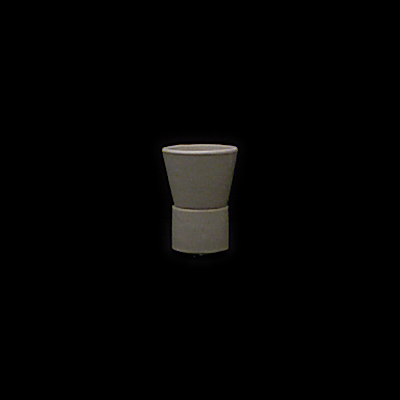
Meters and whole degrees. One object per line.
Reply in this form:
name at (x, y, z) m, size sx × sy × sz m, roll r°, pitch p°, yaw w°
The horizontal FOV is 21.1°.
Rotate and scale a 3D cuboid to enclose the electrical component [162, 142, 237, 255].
electrical component at (0.000, 0.000, 0.644) m, size 0.044 × 0.066 × 0.044 m, roll 0°, pitch 11°, yaw 0°
